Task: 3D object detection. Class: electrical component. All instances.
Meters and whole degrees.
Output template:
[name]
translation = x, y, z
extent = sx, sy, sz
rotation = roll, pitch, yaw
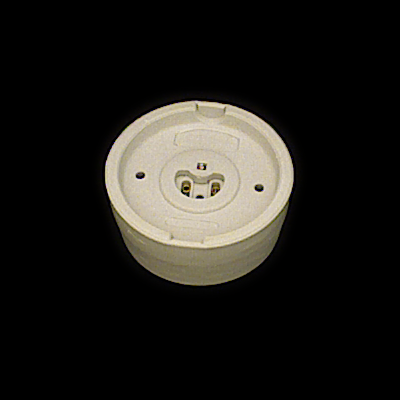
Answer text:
[electrical component]
translation = 0.000, 0.000, 0.637
extent = 0.108, 0.107, 0.061
rotation = 0, -37, 0
